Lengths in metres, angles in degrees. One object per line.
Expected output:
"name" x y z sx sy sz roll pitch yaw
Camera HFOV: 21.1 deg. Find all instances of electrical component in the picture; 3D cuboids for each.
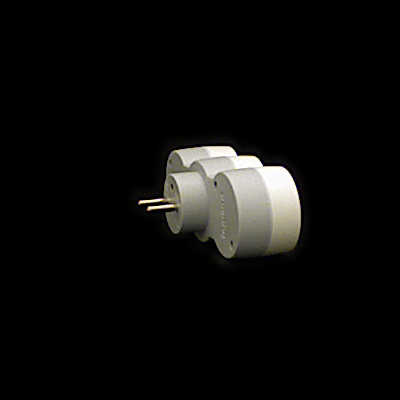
"electrical component" 0.000 0.000 0.652 0.074 0.052 0.136 -4 12 -19
